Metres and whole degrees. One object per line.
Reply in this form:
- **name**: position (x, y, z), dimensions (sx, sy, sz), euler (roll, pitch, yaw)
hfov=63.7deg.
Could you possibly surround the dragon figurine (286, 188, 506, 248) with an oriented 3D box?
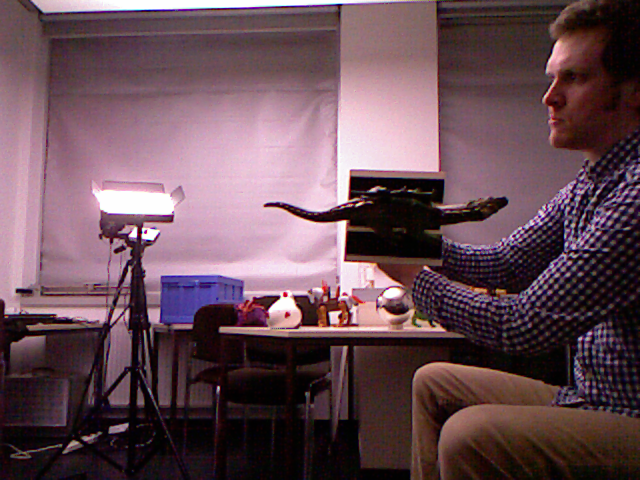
- **dragon figurine**: position (0.134, -0.061, 0.965), dimensions (0.412, 0.124, 0.241), euler (0, -9, 0)
